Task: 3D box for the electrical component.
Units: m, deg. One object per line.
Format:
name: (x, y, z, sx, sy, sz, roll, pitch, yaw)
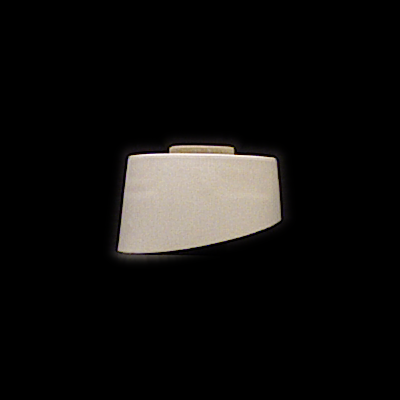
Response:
electrical component: (0.000, 0.000, 0.650, 0.099, 0.064, 0.099, 1, 0, 0)
